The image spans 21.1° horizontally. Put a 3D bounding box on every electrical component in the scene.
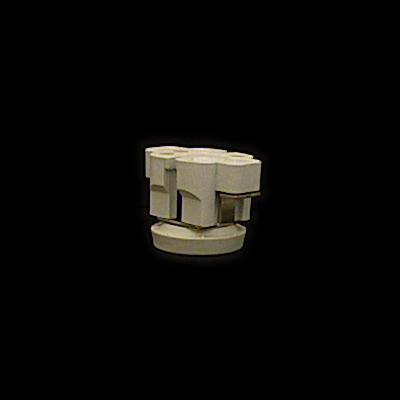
[{"bbox_3d":[0.000,0.000,0.651,0.077,0.057,0.058,13,16,41],"label":"electrical component"}]
